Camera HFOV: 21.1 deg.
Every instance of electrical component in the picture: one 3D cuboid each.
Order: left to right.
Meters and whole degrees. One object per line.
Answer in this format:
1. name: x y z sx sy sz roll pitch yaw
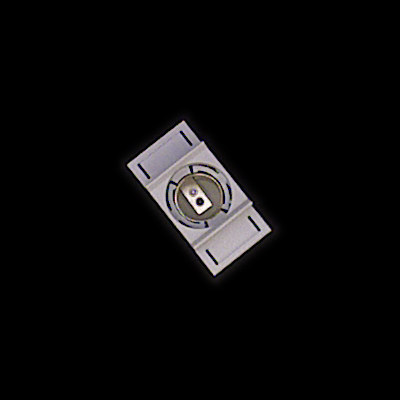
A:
1. electrical component: 0.000 0.000 0.624 0.042 0.081 0.063 -38 -4 -2
